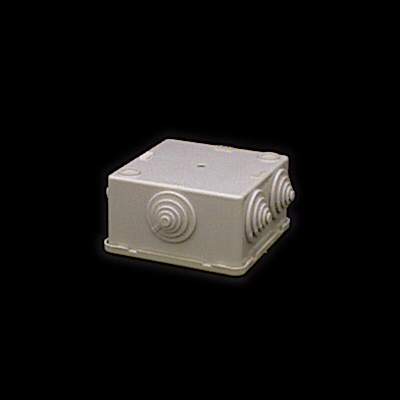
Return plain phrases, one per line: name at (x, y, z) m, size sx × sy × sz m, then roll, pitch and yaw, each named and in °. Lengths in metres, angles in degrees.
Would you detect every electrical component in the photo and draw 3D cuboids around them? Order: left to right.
electrical component at (0.000, 0.000, 0.642) m, size 0.099 × 0.049 × 0.099 m, roll 10°, pitch 22°, yaw 21°
